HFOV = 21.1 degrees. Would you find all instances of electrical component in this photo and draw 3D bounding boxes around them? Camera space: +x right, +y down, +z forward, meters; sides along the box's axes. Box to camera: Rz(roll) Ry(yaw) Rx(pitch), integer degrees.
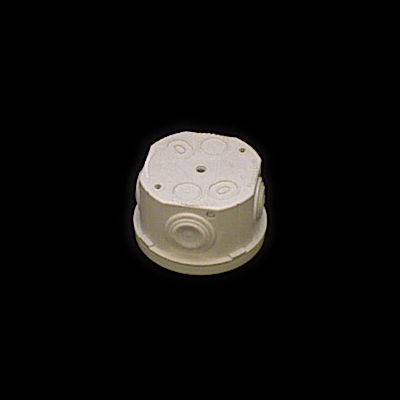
[{"bbox_3d":[0.000,0.000,0.635,0.080,0.051,0.079,1,42,-1],"label":"electrical component"}]
